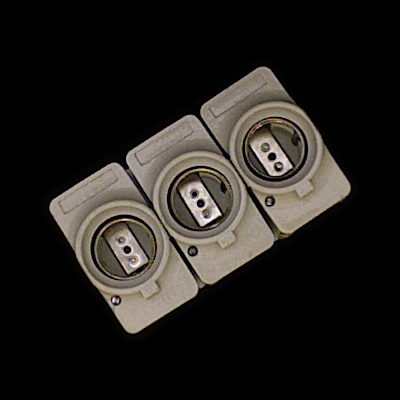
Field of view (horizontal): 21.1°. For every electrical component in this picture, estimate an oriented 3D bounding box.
[{"bbox_3d":[0.000,0.000,0.632,0.150,0.089,0.061,-33,-4,-3],"label":"electrical component"}]
